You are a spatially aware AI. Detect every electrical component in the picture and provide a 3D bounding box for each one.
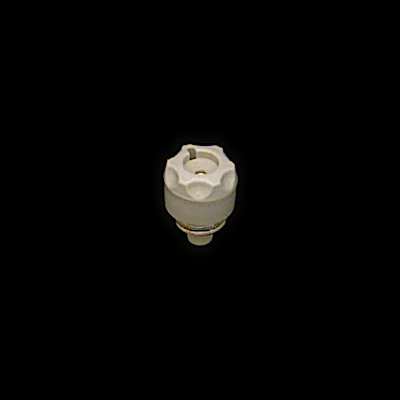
[{"bbox_3d":[0.000,0.000,0.638,0.043,0.062,0.043,1,43,0],"label":"electrical component"}]
